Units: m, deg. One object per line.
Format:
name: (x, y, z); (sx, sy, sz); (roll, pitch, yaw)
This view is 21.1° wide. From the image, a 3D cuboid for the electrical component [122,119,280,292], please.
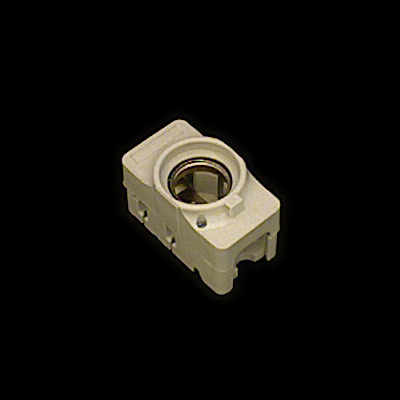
electrical component: (0.000, 0.000, 0.637); (0.050, 0.056, 0.089); (-36, 61, -24)
